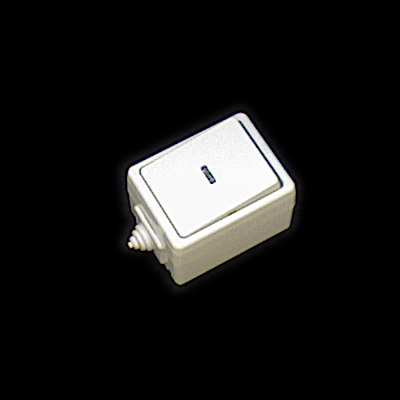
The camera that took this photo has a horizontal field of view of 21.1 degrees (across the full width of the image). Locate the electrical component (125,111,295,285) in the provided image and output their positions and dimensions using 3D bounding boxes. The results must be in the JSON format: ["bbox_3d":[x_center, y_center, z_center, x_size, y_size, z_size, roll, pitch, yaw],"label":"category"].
[{"bbox_3d":[0.000,0.000,0.626,0.096,0.062,0.061,-27,-24,-13],"label":"electrical component"}]
